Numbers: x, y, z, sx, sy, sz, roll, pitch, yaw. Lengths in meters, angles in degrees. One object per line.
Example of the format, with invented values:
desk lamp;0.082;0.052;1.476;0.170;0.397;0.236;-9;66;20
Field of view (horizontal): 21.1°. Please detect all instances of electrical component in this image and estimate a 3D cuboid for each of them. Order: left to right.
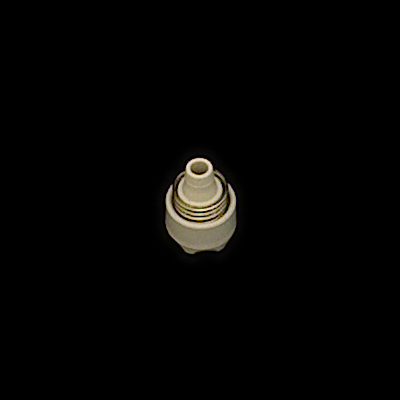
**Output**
electrical component;0.000;0.000;0.636;0.043;0.043;0.062;0;-38;1
